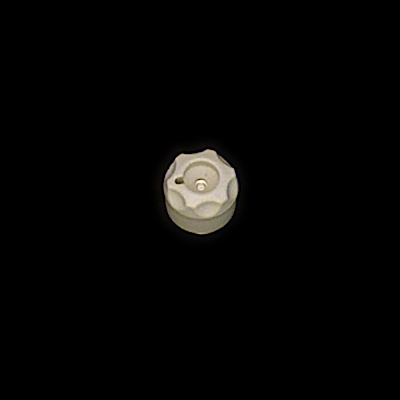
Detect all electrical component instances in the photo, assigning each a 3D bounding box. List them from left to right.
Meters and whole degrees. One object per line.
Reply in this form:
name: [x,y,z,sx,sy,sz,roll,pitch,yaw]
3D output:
electrical component: [0.000,0.000,0.634,0.043,0.043,0.062,0,-27,0]
